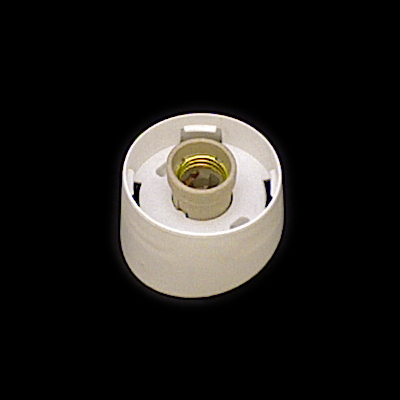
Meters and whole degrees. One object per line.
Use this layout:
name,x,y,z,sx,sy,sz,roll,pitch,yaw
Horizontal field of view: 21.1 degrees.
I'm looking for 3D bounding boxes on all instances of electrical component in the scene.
electrical component,0.000,0.000,0.627,0.099,0.098,0.064,0,-37,0
